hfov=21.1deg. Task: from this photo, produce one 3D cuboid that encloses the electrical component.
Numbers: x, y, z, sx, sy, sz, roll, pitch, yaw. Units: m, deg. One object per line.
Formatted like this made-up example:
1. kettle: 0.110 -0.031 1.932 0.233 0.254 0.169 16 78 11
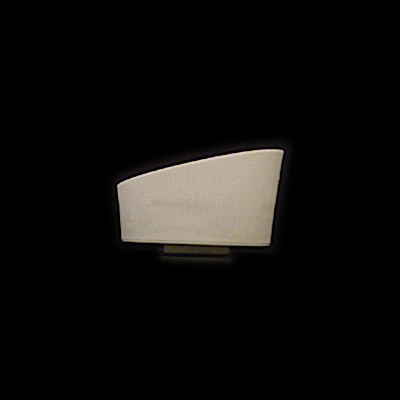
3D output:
1. electrical component: 0.000 0.000 0.650 0.099 0.064 0.099 2 0 0
